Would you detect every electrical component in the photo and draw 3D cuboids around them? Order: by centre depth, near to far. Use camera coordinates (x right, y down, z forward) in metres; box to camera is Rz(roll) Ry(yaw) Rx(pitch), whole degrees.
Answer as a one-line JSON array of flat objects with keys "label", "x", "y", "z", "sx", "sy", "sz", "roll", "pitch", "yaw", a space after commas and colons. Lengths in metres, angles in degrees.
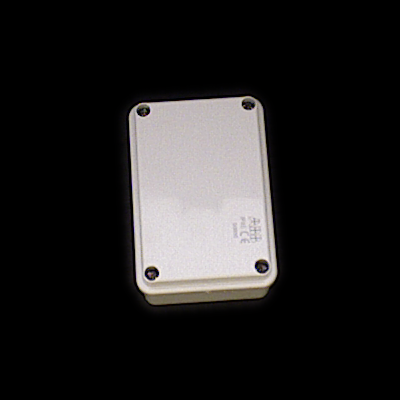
[{"label": "electrical component", "x": 0.000, "y": 0.000, "z": 0.627, "sx": 0.078, "sy": 0.113, "sz": 0.057, "roll": -4, "pitch": -17, "yaw": -1}]
